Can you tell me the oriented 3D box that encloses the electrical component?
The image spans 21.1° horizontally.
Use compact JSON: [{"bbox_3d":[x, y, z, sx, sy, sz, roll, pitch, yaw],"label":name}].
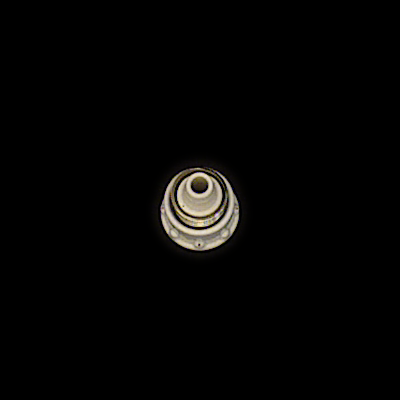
[{"bbox_3d":[0.000,0.000,0.634,0.048,0.048,0.061,0,-17,-1],"label":"electrical component"}]
